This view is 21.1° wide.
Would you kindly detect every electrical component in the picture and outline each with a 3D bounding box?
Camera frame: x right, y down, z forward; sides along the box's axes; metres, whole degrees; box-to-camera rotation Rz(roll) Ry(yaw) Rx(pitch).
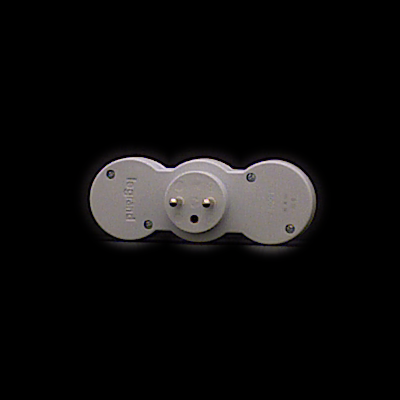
[{"bbox_3d":[0.000,0.000,0.650,0.138,0.052,0.073,2,2,9],"label":"electrical component"}]
